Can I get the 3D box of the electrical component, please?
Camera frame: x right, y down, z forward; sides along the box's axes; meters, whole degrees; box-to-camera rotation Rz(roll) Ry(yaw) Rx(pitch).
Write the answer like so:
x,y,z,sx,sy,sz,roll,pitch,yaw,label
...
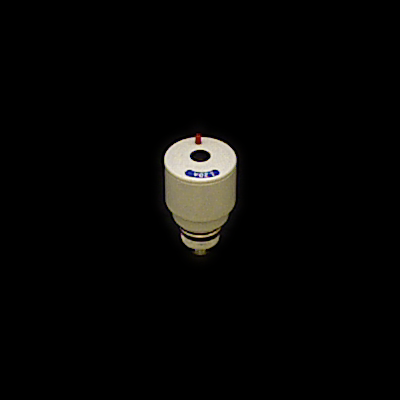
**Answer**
x,y,z,sx,sy,sz,roll,pitch,yaw,label
0.000,0.000,0.626,0.040,0.079,0.039,0,41,0,electrical component
